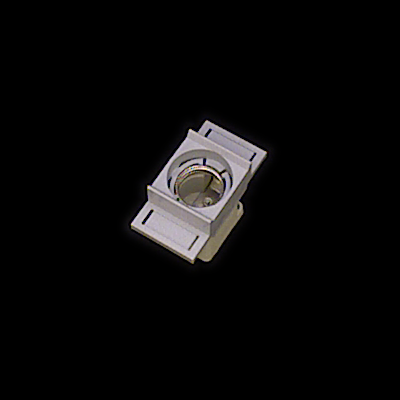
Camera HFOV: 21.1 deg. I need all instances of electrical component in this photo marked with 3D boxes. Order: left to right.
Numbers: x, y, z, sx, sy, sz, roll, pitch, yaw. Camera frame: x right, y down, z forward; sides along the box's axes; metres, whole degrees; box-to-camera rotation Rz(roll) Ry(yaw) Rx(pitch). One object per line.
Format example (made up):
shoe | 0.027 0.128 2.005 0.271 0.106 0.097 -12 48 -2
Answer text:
electrical component | 0.000 0.000 0.625 0.042 0.081 0.064 29 -23 15
